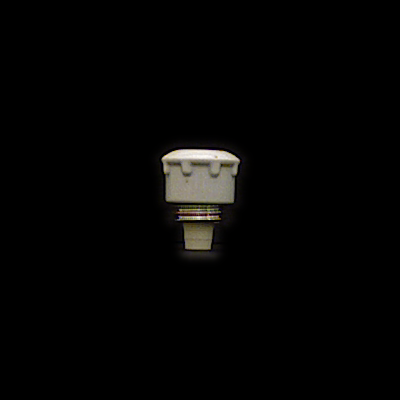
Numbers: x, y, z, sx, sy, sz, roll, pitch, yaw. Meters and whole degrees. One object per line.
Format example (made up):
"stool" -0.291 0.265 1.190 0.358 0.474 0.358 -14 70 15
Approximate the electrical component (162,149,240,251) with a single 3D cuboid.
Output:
"electrical component" 0.000 0.000 0.659 0.048 0.062 0.048 1 2 0
